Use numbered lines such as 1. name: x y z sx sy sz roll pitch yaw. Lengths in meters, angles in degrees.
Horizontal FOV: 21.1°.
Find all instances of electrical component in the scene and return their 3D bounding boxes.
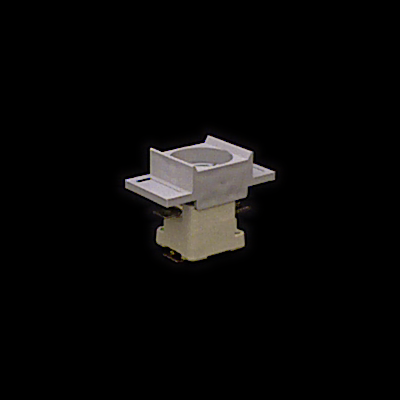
1. electrical component: 0.000 0.000 0.640 0.080 0.064 0.042 -15 25 -35
